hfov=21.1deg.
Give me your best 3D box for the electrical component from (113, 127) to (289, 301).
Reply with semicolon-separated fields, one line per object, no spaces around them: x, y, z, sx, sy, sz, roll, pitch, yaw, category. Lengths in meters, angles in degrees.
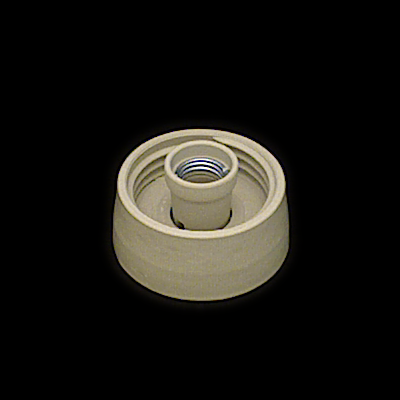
0.000;0.000;0.639;0.108;0.061;0.106;1;42;0;electrical component
